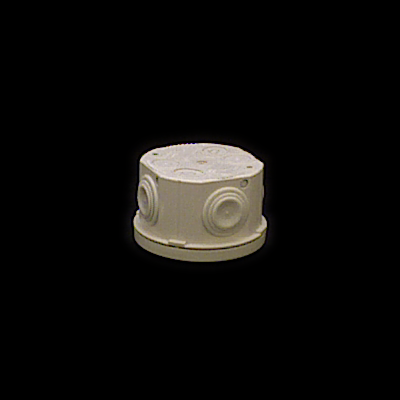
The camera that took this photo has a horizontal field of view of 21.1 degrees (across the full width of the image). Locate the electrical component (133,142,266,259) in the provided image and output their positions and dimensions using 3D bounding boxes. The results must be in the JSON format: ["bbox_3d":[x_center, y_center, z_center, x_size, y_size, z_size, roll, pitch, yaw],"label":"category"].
[{"bbox_3d":[0.000,0.000,0.641,0.080,0.051,0.079,2,21,0],"label":"electrical component"}]
